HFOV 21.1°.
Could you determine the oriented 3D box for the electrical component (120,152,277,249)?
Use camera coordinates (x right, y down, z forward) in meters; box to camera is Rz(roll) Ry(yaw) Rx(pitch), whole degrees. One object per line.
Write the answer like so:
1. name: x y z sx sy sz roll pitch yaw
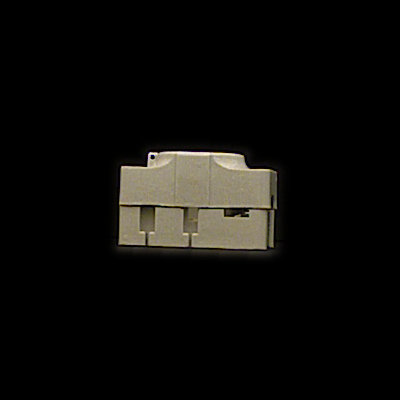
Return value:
1. electrical component: 0.000 0.000 0.657 0.089 0.056 0.050 2 1 9
